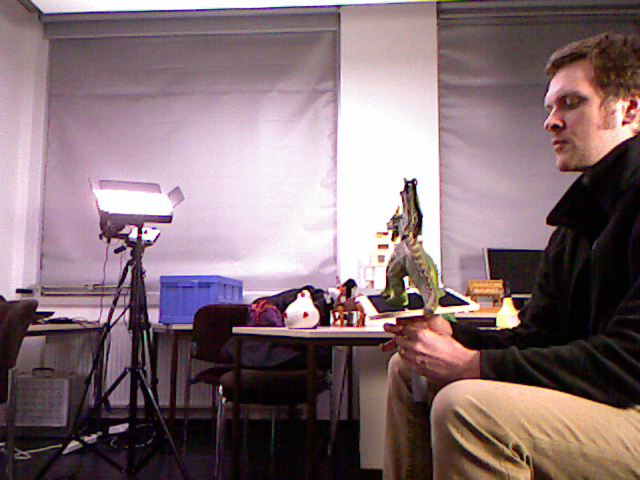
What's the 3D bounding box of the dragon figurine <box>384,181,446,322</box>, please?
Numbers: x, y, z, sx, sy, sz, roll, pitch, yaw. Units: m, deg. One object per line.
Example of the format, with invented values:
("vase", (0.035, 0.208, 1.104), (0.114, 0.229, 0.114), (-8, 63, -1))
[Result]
("dragon figurine", (0.182, 0.003, 1.027), (0.122, 0.242, 0.412), (-8, 4, -2))
